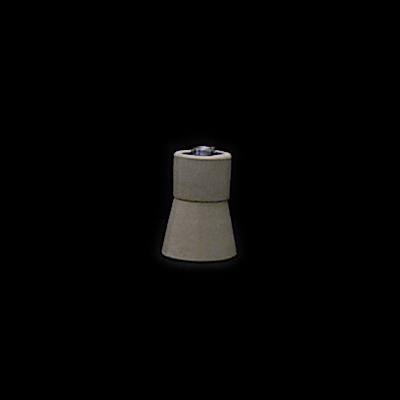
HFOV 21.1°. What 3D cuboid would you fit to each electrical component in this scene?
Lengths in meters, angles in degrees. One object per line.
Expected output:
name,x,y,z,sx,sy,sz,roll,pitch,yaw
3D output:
electrical component,0.000,0.000,0.642,0.044,0.066,0.044,2,11,0
